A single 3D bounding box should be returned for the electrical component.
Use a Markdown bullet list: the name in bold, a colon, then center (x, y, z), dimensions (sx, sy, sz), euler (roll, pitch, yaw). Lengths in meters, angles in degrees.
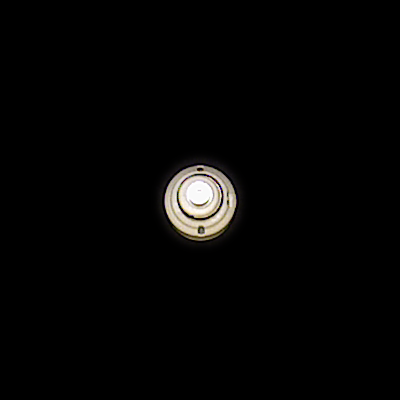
- **electrical component**: center (0.000, 0.000, 0.618), dimensions (0.040, 0.040, 0.078), euler (0, -7, 1)
